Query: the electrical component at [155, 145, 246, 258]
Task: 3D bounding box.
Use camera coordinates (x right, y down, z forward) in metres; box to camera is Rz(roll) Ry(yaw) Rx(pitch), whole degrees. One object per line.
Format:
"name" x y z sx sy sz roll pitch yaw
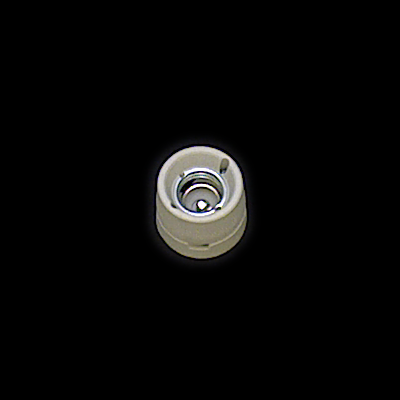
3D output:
"electrical component" 0.000 0.000 0.632 0.055 0.056 0.047 0 -27 1
